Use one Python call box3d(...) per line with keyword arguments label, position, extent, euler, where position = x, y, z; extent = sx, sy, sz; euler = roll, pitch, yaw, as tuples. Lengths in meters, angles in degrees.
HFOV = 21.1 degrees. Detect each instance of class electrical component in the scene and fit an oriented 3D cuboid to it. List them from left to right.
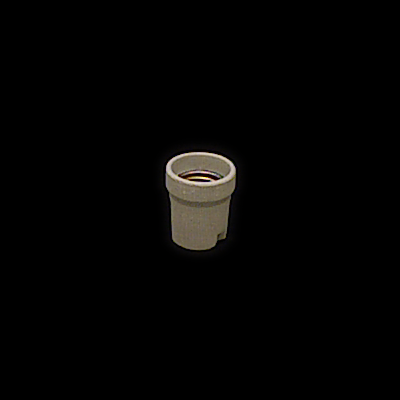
box3d(label="electrical component", position=(0.000, 0.000, 0.636), extent=(0.040, 0.047, 0.039), euler=(1, 32, 0))
